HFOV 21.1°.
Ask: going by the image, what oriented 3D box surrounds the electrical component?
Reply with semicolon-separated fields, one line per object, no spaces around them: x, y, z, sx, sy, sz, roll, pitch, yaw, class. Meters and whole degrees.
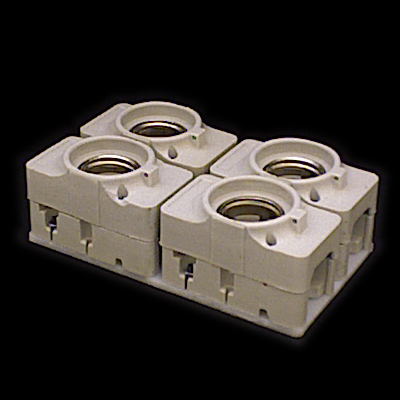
0.000;0.000;0.634;0.185;0.061;0.105;18;35;25;electrical component
